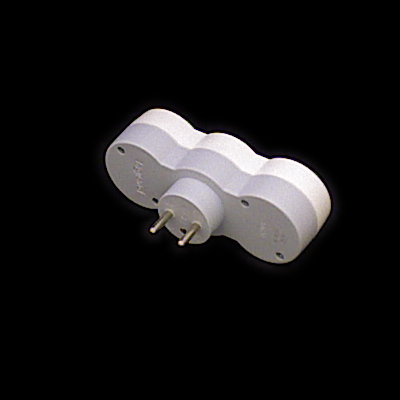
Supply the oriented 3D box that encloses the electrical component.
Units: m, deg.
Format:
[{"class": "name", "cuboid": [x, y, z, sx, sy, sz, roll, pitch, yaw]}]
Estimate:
[{"class": "electrical component", "cuboid": [0.000, 0.000, 0.633, 0.138, 0.052, 0.073, 24, 49, 22]}]
